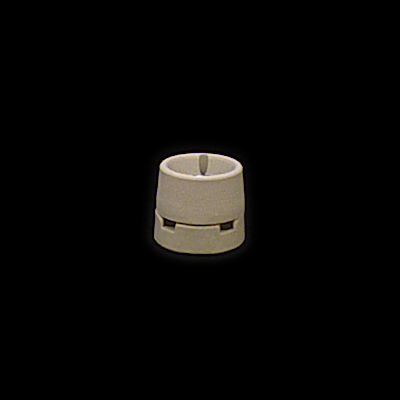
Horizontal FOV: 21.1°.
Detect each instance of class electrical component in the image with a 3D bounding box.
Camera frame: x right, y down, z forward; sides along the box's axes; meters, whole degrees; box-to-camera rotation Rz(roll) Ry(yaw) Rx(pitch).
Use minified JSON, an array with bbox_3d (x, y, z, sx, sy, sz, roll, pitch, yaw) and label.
[{"bbox_3d":[0.000,0.000,0.643,0.055,0.047,0.055,1,20,0],"label":"electrical component"}]
